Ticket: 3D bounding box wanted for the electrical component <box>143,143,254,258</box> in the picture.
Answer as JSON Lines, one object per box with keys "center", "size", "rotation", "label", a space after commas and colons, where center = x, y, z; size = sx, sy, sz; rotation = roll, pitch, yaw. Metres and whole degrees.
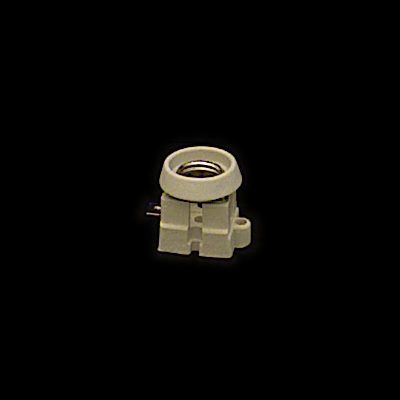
{"center": [0.000, 0.000, 0.642], "size": [0.066, 0.056, 0.048], "rotation": [5, 31, 6], "label": "electrical component"}
